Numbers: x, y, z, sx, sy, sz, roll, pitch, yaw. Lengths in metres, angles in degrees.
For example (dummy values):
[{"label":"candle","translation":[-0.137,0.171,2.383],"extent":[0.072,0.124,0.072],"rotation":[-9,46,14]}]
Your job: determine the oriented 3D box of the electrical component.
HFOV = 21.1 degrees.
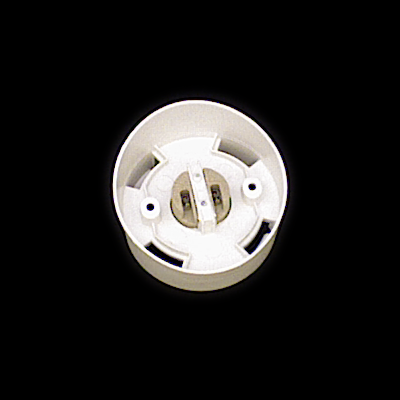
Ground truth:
[{"label":"electrical component","translation":[0.000,0.000,0.624],"extent":[0.099,0.099,0.064],"rotation":[0,-28,0]}]
